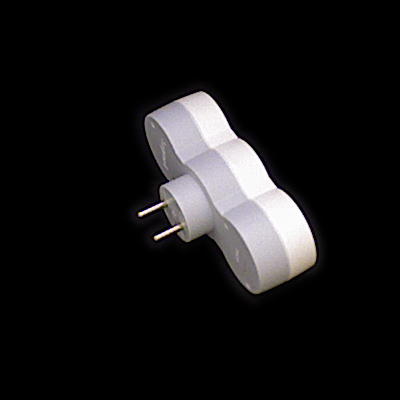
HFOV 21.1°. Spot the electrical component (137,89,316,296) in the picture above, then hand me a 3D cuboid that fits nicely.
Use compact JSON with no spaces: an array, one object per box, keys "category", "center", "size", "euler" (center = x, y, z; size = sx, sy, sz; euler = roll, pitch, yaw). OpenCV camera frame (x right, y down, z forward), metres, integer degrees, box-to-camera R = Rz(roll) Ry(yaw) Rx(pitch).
[{"category":"electrical component","center":[0.000,0.000,0.630],"size":[0.074,0.138,0.052],"euler":[-26,-32,-16]}]
